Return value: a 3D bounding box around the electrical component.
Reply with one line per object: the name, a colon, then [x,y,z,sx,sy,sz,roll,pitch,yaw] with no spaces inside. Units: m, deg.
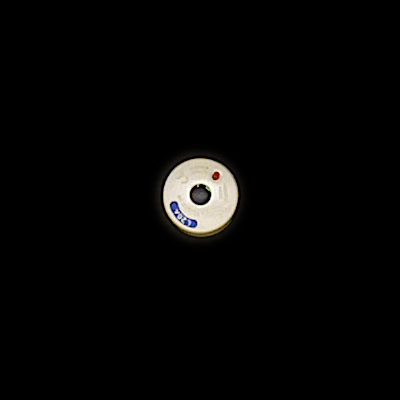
electrical component: [0.000,0.000,0.618,0.040,0.040,0.078,0,-7,0]
